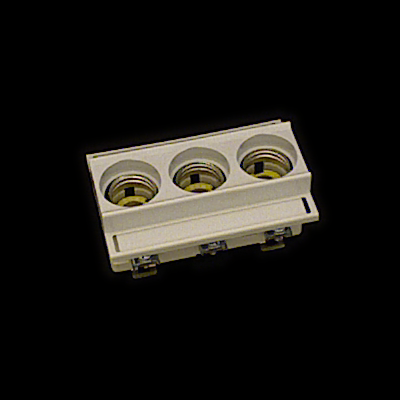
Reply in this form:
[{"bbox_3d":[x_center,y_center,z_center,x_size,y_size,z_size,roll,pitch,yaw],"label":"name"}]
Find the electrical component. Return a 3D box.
[{"bbox_3d":[0.000,0.000,0.640,0.122,0.078,0.063,-11,-38,-8],"label":"electrical component"}]
